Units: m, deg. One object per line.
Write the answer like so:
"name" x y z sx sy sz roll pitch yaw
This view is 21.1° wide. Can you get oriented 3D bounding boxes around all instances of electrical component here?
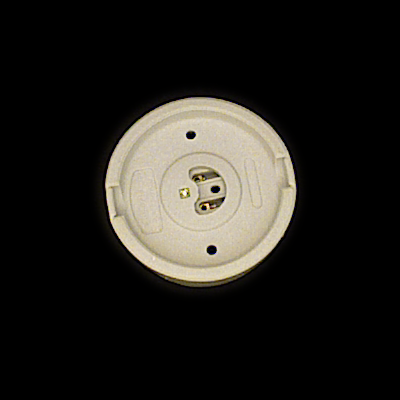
"electrical component" 0.000 0.000 0.633 0.108 0.108 0.060 0 -16 0
